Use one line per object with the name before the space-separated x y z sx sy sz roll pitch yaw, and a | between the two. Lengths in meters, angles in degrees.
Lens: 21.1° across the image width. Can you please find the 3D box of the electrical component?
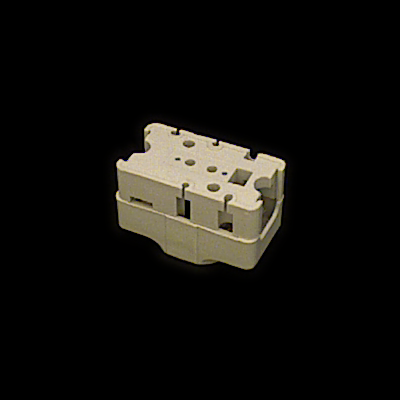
electrical component | 0.000 0.000 0.640 0.089 0.056 0.050 18 45 17
